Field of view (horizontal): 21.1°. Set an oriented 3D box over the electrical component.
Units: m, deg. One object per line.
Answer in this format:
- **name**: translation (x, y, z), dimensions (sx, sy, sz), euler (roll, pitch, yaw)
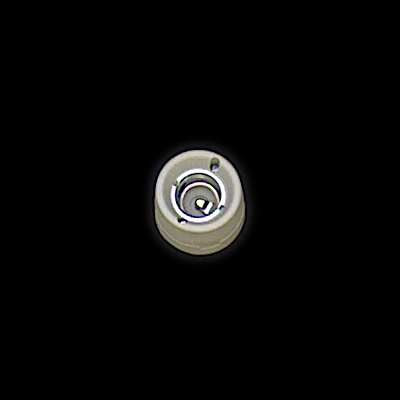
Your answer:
- **electrical component**: translation (0.000, 0.000, 0.632), dimensions (0.055, 0.056, 0.047), euler (0, -16, 1)
